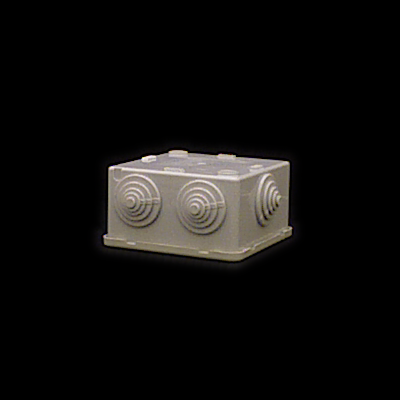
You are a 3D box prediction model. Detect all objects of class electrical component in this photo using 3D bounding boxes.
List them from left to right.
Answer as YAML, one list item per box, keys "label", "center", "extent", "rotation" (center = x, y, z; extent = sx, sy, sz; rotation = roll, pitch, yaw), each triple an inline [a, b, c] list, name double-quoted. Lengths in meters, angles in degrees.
- label: "electrical component"
  center: [0.000, 0.000, 0.645]
  extent: [0.099, 0.049, 0.099]
  rotation: [6, 11, 25]
